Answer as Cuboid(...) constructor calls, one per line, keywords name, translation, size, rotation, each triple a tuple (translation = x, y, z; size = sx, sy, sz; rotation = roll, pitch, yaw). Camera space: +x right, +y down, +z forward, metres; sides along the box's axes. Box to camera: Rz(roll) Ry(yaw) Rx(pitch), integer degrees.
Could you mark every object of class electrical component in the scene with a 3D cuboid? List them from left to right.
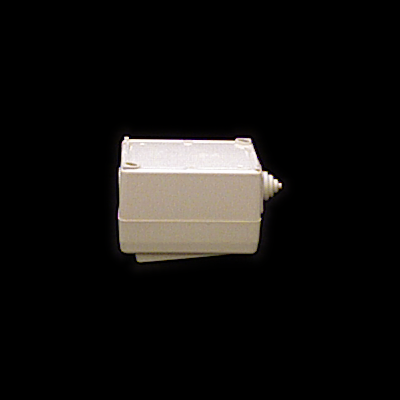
Cuboid(name="electrical component", translation=(0.000, 0.000, 0.637), size=(0.096, 0.061, 0.061), rotation=(1, 21, -4))
